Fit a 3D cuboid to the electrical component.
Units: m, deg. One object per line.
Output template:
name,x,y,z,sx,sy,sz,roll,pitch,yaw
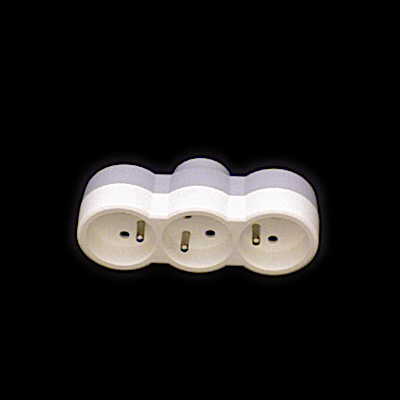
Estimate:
electrical component,0.000,0.000,0.633,0.138,0.052,0.073,1,40,2
